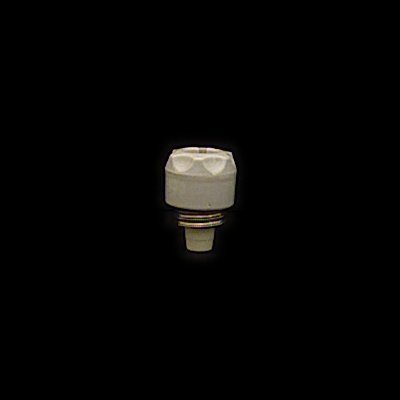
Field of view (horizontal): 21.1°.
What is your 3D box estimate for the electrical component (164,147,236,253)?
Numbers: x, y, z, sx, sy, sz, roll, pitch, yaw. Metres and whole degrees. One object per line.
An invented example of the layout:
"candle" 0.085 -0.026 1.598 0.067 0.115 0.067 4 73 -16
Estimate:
"electrical component" 0.000 0.000 0.650 0.043 0.062 0.043 1 13 0
